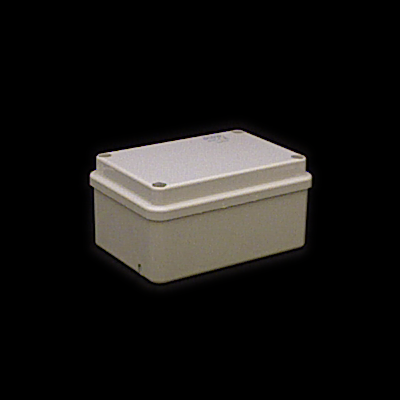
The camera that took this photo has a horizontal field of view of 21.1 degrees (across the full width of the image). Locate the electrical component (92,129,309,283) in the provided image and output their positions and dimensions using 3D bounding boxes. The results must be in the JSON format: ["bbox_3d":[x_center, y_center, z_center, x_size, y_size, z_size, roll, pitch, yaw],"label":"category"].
[{"bbox_3d":[0.000,0.000,0.641,0.113,0.058,0.077,-13,25,-32],"label":"electrical component"}]
